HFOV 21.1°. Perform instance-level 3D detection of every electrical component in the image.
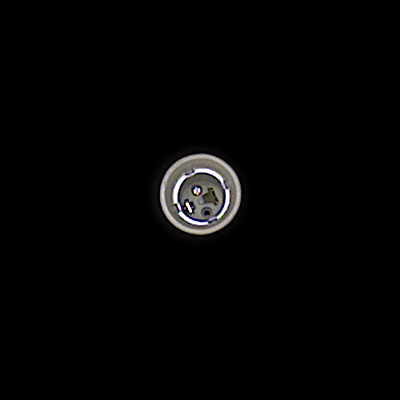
[{"bbox_3d":[0.000,0.000,0.625,0.044,0.044,0.065,0,-7,1],"label":"electrical component"}]
